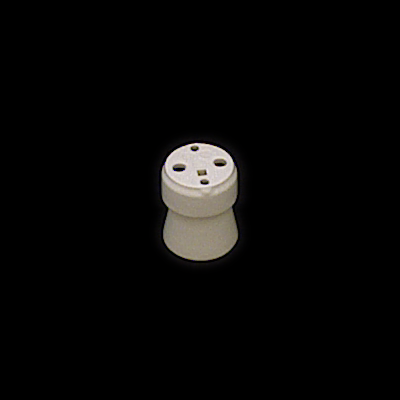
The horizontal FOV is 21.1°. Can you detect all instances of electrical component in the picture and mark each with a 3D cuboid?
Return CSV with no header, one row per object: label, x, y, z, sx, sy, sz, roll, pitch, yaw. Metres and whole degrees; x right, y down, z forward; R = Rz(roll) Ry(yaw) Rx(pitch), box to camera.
electrical component,0.000,0.000,0.632,0.045,0.055,0.044,0,42,0
